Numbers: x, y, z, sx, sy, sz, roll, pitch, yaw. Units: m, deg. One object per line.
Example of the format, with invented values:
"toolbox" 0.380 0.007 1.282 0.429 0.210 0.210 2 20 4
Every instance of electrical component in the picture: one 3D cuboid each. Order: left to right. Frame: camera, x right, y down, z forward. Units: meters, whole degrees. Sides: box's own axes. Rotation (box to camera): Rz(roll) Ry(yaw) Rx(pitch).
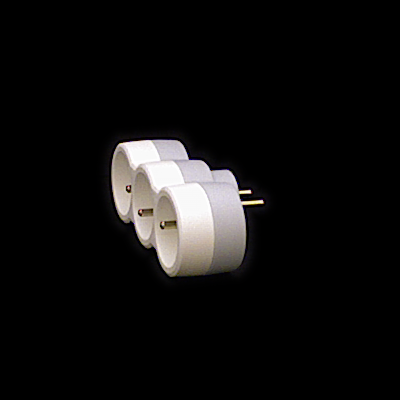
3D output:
"electrical component" 0.000 0.000 0.643 0.074 0.053 0.136 -5 21 -20
